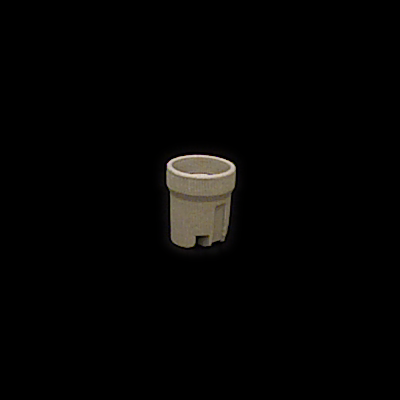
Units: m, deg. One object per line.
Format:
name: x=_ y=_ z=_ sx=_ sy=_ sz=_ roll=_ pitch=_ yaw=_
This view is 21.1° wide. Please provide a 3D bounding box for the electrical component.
electrical component: x=0.000 y=0.000 z=0.638 sx=0.040 sy=0.047 sz=0.039 roll=1 pitch=21 yaw=0
